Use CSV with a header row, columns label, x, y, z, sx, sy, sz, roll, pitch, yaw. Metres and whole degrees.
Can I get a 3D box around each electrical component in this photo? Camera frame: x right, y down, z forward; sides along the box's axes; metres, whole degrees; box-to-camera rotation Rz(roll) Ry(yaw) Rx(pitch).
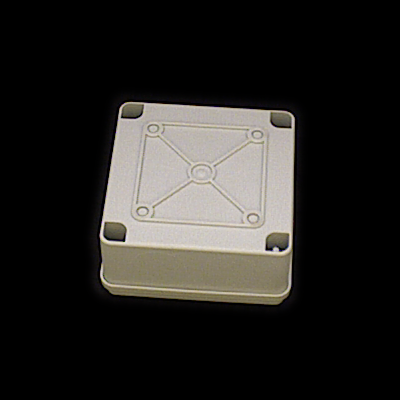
label,x,y,z,sx,sy,sz,roll,pitch,yaw
electrical component,0.000,0.000,0.629,0.109,0.108,0.056,4,-37,2
